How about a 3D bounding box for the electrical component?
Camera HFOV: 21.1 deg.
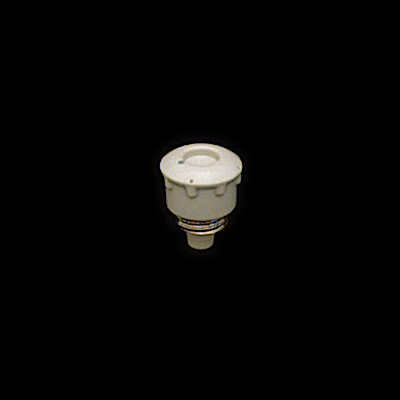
[{"bbox_3d":[0.000,0.000,0.639,0.048,0.063,0.047,1,32,0],"label":"electrical component"}]
